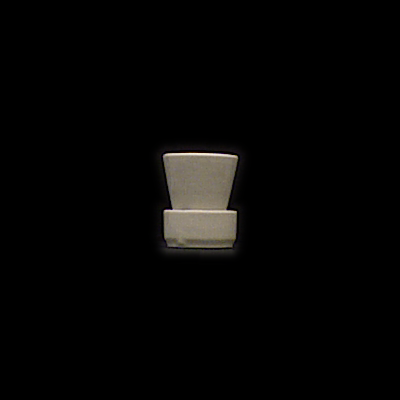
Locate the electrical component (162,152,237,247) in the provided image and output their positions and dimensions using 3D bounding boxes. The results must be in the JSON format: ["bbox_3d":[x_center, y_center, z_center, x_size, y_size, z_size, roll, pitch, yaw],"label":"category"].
[{"bbox_3d":[0.000,0.000,0.649,0.045,0.055,0.045,1,0,0],"label":"electrical component"}]
